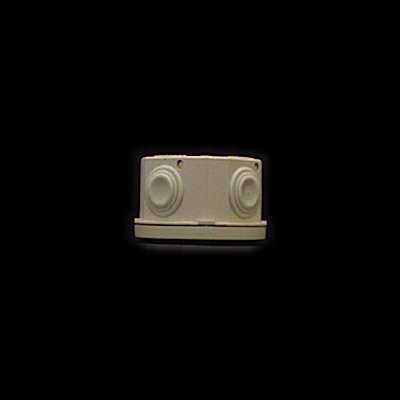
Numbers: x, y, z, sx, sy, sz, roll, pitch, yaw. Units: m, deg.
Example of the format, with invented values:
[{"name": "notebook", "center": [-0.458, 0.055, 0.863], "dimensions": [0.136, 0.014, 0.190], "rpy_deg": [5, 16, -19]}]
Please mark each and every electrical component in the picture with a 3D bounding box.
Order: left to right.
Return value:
[{"name": "electrical component", "center": [0.000, 0.000, 0.651], "dimensions": [0.080, 0.051, 0.080], "rpy_deg": [1, 0, 0]}]
